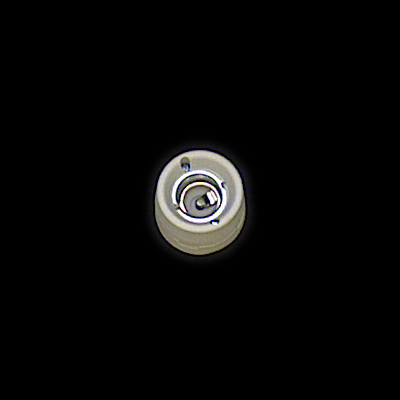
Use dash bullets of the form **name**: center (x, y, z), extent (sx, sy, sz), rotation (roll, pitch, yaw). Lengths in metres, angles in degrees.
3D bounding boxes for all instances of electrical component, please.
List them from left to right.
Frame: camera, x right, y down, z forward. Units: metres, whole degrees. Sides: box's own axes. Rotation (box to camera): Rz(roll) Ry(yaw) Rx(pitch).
- **electrical component**: center (0.000, 0.000, 0.632), extent (0.055, 0.056, 0.047), rotation (0, -16, 0)
